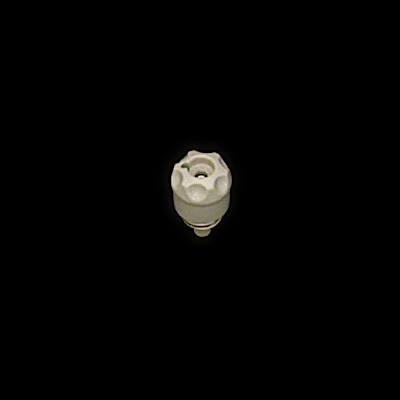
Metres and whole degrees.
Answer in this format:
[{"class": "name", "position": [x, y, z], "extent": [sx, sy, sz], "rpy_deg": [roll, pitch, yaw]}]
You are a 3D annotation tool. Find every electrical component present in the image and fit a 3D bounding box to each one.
[{"class": "electrical component", "position": [0.000, 0.000, 0.636], "extent": [0.035, 0.035, 0.062], "rpy_deg": [0, -37, 0]}]
